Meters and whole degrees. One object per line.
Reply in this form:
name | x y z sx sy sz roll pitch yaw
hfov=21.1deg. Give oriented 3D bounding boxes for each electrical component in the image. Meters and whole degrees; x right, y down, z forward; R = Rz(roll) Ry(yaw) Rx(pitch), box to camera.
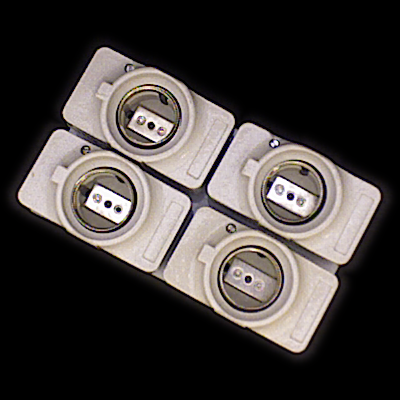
electrical component | 0.000 0.000 0.626 0.186 0.106 0.060 28 -6 3
